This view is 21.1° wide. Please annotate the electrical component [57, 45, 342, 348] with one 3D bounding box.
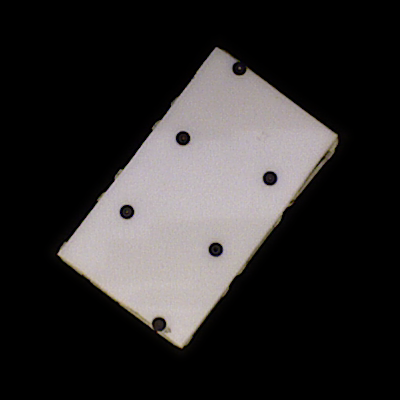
[{"bbox_3d":[0.000,0.000,0.631,0.089,0.150,0.061,37,-5,3],"label":"electrical component"}]
